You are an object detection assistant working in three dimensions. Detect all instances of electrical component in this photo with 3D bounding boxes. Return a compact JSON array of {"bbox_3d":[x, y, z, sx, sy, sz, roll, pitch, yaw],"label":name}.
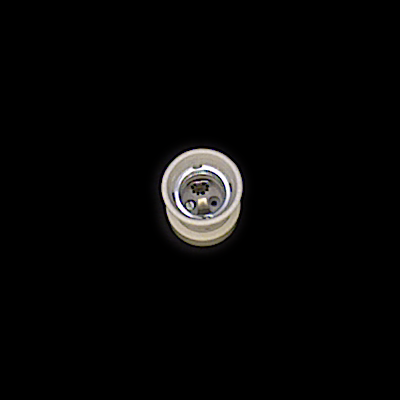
[{"bbox_3d":[0.000,0.000,0.628,0.045,0.045,0.055,0,-17,0],"label":"electrical component"}]
